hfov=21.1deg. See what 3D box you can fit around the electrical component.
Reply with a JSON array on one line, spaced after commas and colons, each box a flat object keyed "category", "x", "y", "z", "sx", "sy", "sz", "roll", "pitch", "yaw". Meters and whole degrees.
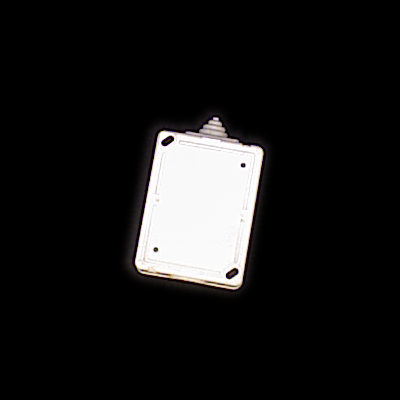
[{"category": "electrical component", "x": 0.000, "y": 0.000, "z": 0.629, "sx": 0.062, "sy": 0.096, "sz": 0.061, "roll": 10, "pitch": -8, "yaw": 2}]
